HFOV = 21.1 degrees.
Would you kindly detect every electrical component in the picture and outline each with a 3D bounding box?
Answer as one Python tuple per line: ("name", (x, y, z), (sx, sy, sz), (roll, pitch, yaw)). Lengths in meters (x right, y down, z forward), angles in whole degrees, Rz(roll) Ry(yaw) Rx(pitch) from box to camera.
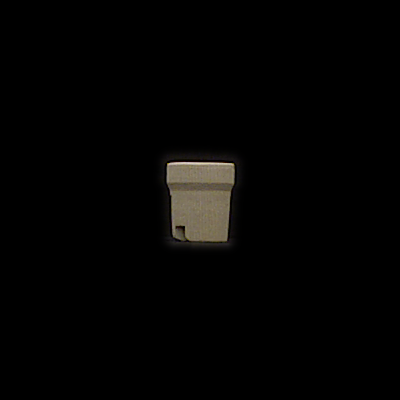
("electrical component", (0.000, 0.000, 0.649), (0.040, 0.046, 0.040), (1, 1, 1))
